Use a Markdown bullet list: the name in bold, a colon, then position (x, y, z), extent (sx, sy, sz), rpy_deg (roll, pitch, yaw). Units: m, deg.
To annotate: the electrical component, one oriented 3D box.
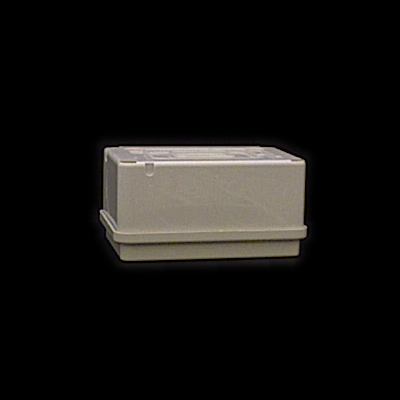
- **electrical component**: position (0.000, 0.000, 0.644), extent (0.113, 0.057, 0.077), rpy_deg (0, 10, -13)
